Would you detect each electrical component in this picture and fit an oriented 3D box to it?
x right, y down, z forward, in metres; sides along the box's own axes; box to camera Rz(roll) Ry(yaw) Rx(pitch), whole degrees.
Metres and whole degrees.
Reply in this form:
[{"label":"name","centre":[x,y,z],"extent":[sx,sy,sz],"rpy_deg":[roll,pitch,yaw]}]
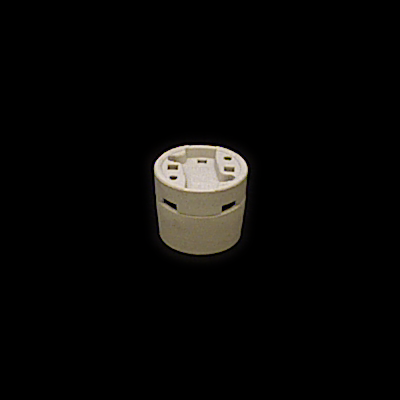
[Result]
[{"label":"electrical component","centre":[0.000,0.000,0.638],"extent":[0.055,0.047,0.055],"rpy_deg":[1,31,0]}]
